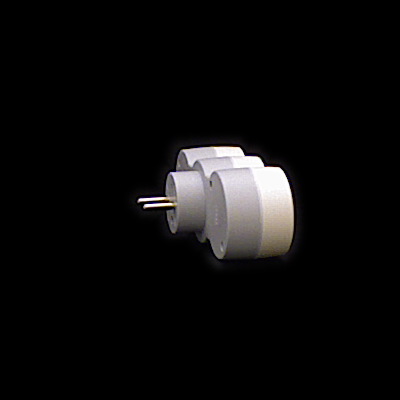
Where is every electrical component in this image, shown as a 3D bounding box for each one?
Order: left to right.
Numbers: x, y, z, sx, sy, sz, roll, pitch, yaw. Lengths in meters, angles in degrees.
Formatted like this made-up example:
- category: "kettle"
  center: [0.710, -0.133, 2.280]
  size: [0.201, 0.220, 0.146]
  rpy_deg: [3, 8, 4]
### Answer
- category: "electrical component"
  center: [0.000, 0.000, 0.642]
  size: [0.074, 0.052, 0.137]
  rpy_deg: [-3, 12, -13]
